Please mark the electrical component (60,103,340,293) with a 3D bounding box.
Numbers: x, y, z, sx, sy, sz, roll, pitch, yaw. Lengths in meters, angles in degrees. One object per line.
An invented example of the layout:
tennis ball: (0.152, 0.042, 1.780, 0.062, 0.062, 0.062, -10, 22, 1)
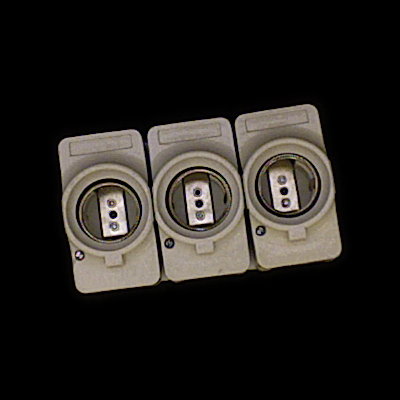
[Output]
electrical component: (0.000, 0.000, 0.632, 0.150, 0.089, 0.061, -8, -5, 0)
